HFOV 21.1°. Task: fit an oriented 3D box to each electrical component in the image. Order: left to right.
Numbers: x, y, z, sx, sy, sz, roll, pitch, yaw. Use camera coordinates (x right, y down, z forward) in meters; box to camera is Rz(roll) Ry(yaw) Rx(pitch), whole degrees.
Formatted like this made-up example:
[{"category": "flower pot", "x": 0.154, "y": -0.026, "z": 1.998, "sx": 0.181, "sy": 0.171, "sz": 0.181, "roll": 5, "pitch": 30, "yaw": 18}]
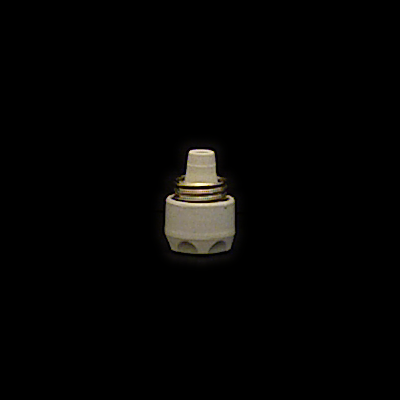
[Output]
[{"category": "electrical component", "x": 0.000, "y": 0.000, "z": 0.650, "sx": 0.043, "sy": 0.062, "sz": 0.043, "roll": 1, "pitch": 13, "yaw": 0}]
